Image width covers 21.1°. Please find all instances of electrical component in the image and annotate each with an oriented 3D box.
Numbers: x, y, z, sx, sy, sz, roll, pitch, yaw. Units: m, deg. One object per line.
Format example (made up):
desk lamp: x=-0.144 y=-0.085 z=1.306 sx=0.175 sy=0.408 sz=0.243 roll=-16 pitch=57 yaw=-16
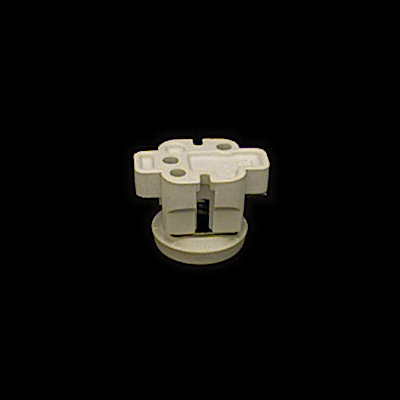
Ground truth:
electrical component: x=0.000 y=0.000 z=0.644 sx=0.079 sy=0.057 sz=0.057 roll=-2 pitch=32 yaw=-7
